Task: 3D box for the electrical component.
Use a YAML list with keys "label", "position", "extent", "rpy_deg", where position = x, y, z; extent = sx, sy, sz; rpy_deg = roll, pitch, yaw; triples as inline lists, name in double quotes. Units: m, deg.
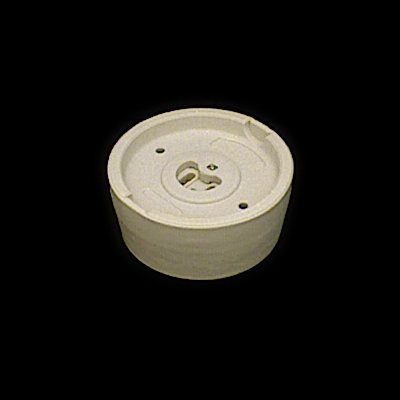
- label: "electrical component"
  position: [0.000, 0.000, 0.641]
  extent: [0.108, 0.061, 0.106]
  rpy_deg: [1, 43, 0]
